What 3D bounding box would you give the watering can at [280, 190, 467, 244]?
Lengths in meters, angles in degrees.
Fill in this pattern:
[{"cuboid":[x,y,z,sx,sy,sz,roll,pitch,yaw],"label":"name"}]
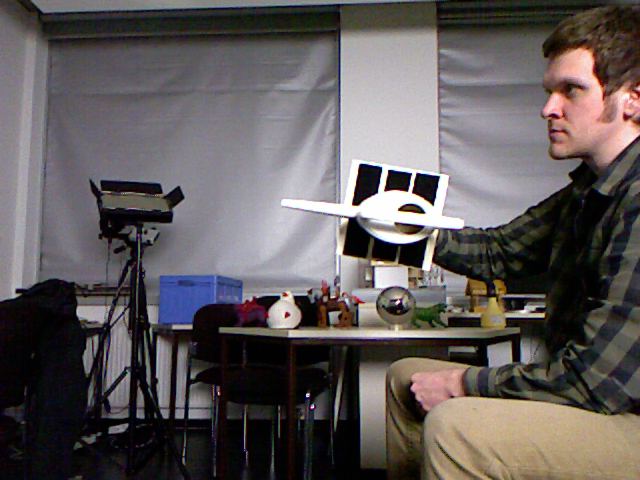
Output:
[{"cuboid":[0.102,-0.051,1.006,0.349,0.104,0.225,8,1,-1],"label":"watering can"}]
